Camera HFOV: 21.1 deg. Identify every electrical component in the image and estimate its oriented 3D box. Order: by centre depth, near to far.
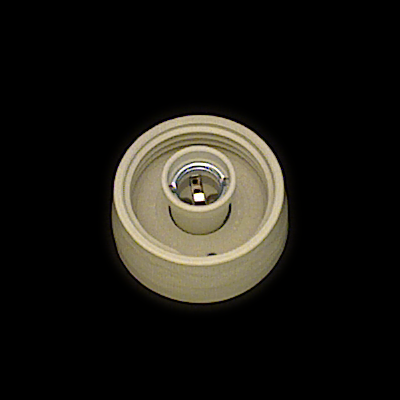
[{"bbox_3d":[0.000,0.000,0.633,0.108,0.108,0.060,0,-26,0],"label":"electrical component"}]
